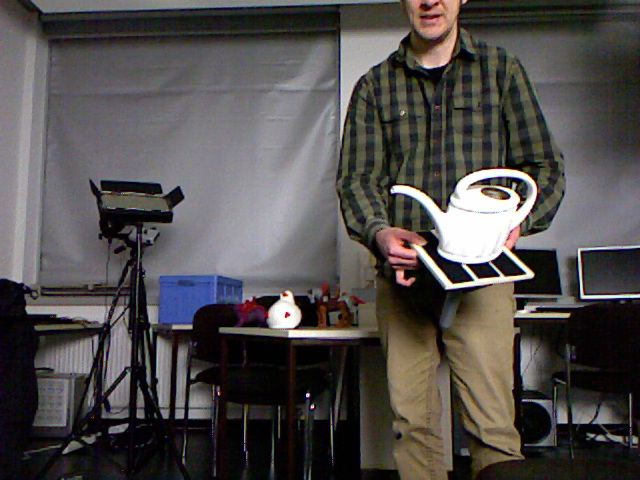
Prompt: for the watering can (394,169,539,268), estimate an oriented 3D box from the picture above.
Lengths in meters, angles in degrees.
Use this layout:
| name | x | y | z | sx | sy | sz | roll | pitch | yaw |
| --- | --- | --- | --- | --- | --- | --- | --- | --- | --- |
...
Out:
| name | x | y | z | sx | sy | sz | roll | pitch | yaw |
| --- | --- | --- | --- | --- | --- | --- | --- | --- | --- |
| watering can | 0.292 | -0.044 | 1.064 | 0.349 | 0.220 | 0.106 | -6 | 36 | -18 |
